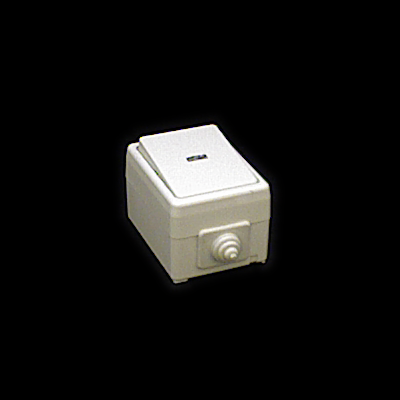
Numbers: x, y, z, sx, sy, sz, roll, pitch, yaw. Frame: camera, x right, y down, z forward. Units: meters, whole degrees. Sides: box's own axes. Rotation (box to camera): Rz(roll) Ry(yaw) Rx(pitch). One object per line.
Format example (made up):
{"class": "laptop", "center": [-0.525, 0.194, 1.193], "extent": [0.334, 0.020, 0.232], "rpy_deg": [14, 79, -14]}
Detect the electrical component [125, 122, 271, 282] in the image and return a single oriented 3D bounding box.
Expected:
{"class": "electrical component", "center": [0.000, 0.000, 0.632], "extent": [0.062, 0.061, 0.095], "rpy_deg": [-12, 33, -20]}
